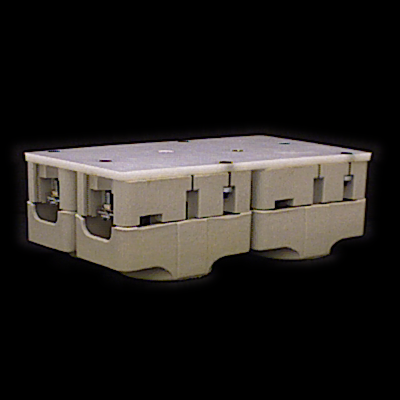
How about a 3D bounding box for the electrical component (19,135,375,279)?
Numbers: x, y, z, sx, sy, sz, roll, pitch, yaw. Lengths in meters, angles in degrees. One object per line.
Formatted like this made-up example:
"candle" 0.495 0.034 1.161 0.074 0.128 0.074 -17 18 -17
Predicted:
"electrical component" 0.000 0.000 0.644 0.186 0.061 0.104 -7 12 -38
